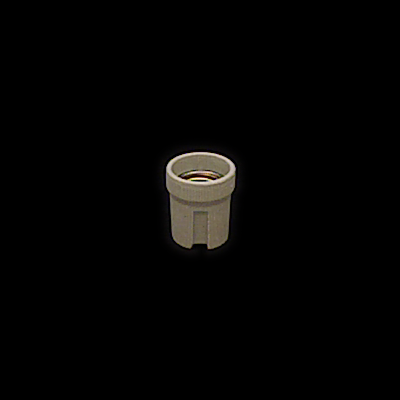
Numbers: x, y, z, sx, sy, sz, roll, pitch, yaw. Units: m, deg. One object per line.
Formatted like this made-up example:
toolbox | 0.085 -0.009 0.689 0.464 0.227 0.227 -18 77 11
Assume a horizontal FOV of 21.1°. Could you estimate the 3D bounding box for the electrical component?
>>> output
electrical component | 0.000 0.000 0.638 0.040 0.047 0.039 1 31 0
